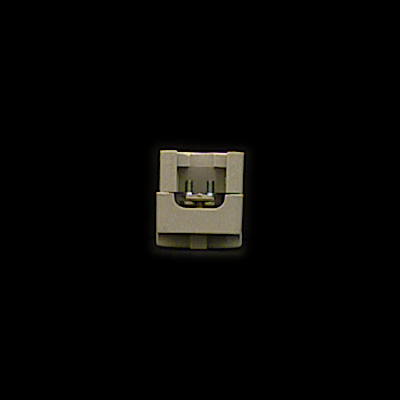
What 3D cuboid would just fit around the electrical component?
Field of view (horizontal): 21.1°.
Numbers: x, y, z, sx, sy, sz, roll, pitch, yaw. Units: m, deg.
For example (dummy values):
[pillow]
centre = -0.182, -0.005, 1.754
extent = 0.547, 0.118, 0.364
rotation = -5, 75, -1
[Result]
[electrical component]
centre = 0.000, 0.000, 0.657
extent = 0.050, 0.056, 0.089
rotation = 2, 1, -1
